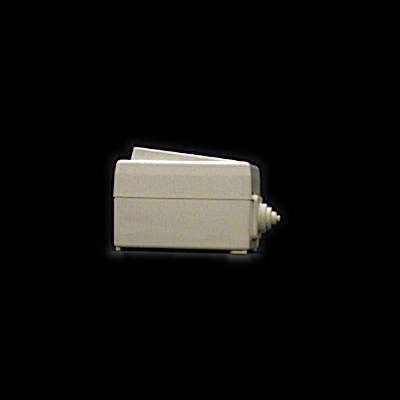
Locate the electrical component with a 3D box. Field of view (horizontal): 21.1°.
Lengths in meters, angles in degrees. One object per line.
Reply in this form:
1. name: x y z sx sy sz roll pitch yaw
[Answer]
1. electrical component: 0.000 0.000 0.649 0.096 0.061 0.061 1 0 9
